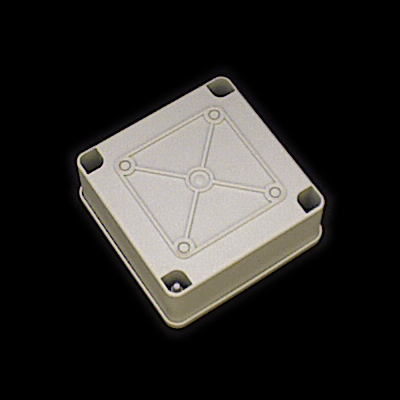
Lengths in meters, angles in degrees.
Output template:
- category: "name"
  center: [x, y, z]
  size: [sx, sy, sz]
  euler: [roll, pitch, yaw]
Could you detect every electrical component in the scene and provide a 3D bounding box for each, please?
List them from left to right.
- category: "electrical component"
  center: [0.000, 0.000, 0.626]
  size: [0.109, 0.109, 0.056]
  euler: [-31, -23, -14]
